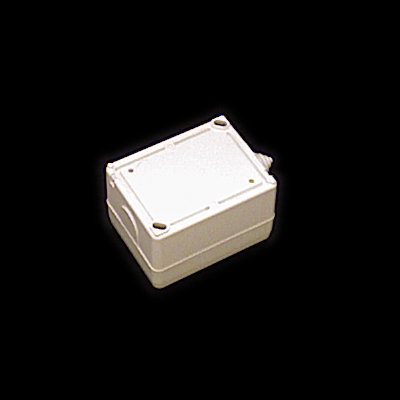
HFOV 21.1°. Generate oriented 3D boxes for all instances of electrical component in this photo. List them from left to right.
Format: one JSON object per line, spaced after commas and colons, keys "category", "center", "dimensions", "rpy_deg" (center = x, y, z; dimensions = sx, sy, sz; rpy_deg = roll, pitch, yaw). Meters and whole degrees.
{"category": "electrical component", "center": [0.000, 0.000, 0.628], "dimensions": [0.096, 0.061, 0.061], "rpy_deg": [-24, -34, -19]}
